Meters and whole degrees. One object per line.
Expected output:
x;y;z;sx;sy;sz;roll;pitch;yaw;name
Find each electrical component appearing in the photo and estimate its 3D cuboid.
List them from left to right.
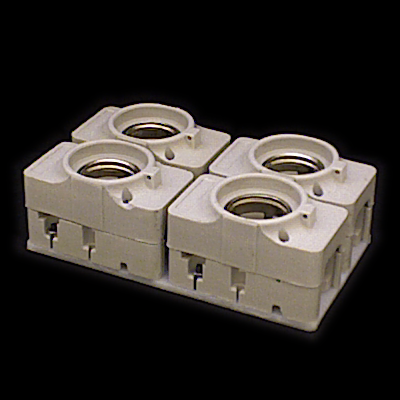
0.000;0.000;0.635;0.185;0.061;0.104;15;34;21;electrical component
